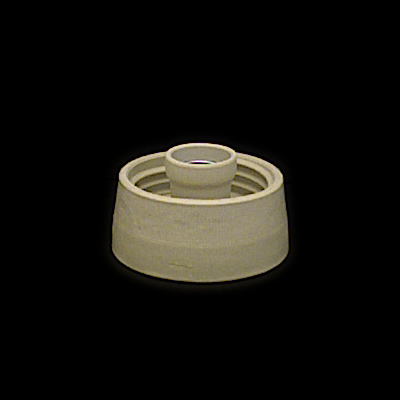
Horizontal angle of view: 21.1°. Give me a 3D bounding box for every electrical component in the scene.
[{"bbox_3d":[0.000,0.000,0.647,0.108,0.061,0.106,1,21,0],"label":"electrical component"}]
